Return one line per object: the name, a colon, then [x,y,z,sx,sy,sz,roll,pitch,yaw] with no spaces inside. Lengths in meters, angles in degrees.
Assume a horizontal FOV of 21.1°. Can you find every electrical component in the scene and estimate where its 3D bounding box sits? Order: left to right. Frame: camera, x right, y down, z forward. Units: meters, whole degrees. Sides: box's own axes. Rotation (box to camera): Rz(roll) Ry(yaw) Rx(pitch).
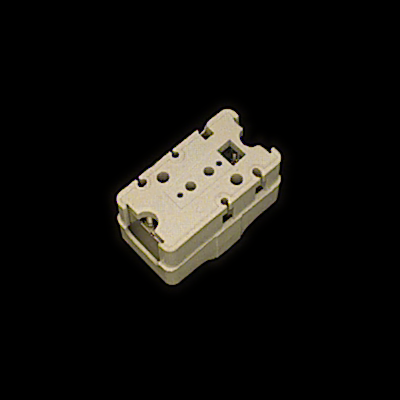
electrical component: [0.000,0.000,0.636,0.090,0.050,0.055,-39,-21,-18]
